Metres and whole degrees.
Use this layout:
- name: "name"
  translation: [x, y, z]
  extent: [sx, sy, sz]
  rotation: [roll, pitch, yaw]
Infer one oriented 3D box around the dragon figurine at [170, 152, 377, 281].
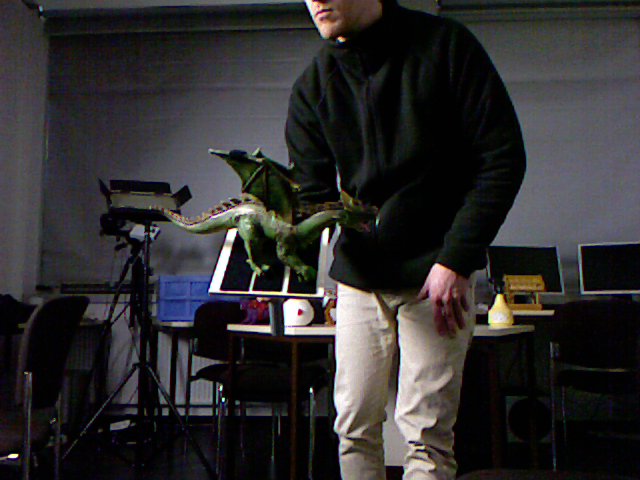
- name: "dragon figurine"
  translation: [-0.107, -0.061, 0.901]
  extent: [0.411, 0.237, 0.125]
  rotation: [12, 46, 12]
